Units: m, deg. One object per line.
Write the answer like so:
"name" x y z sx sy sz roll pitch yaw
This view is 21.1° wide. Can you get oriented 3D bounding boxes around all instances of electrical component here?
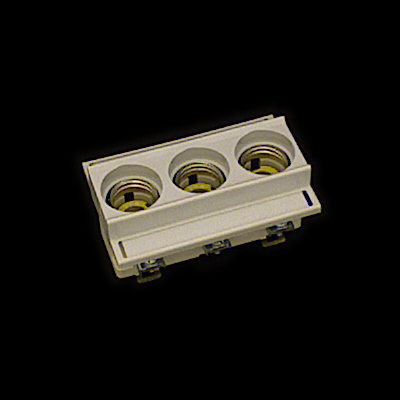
"electrical component" 0.000 0.000 0.640 0.122 0.078 0.063 -15 -37 -11
